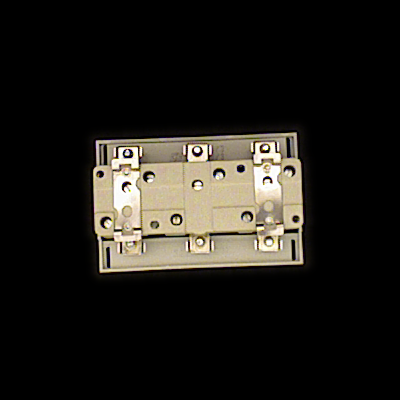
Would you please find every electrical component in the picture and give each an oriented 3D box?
[{"bbox_3d":[0.000,0.000,0.634,0.121,0.079,0.063,-3,-5,0],"label":"electrical component"}]
